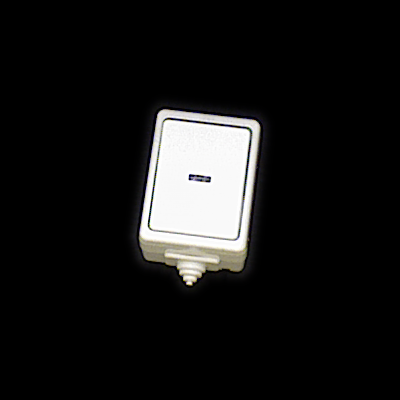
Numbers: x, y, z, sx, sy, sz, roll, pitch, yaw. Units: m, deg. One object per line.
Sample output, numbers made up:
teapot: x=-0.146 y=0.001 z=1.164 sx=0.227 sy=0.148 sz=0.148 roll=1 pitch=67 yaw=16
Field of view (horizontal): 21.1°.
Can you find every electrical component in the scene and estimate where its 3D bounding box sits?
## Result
electrical component: x=0.000 y=0.000 z=0.625 sx=0.062 sy=0.097 sz=0.060 roll=7 pitch=-17 yaw=2
